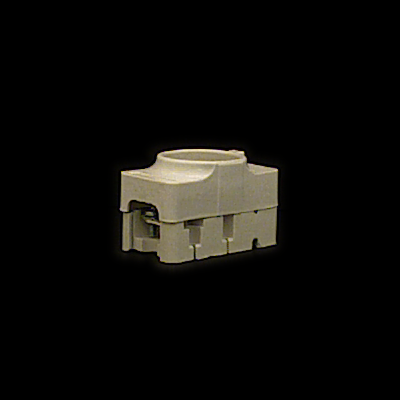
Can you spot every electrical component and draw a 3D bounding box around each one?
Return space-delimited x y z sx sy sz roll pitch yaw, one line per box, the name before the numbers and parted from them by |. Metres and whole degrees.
electrical component | 0.000 0.000 0.651 0.090 0.056 0.049 -9 16 -42
